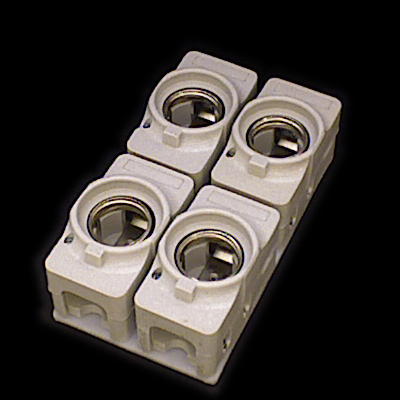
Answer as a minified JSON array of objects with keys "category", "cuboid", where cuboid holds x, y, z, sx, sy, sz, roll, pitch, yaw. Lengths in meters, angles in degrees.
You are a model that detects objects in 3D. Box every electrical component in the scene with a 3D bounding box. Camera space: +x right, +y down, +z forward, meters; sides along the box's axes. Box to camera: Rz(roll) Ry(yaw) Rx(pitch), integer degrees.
[{"category":"electrical component","cuboid":[0.000,0.000,0.627,0.105,0.186,0.060,21,-35,15]}]
